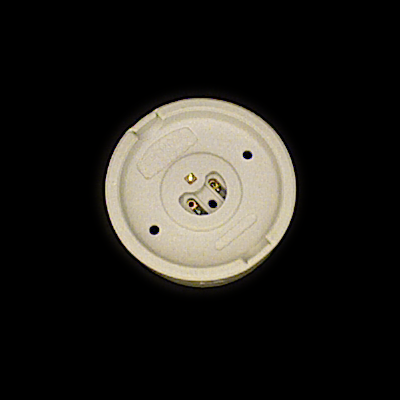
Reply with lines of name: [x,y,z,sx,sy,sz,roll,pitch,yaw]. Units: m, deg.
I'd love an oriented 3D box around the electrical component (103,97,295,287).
electrical component: [0.000,0.000,0.634,0.108,0.108,0.060,0,-16,0]
